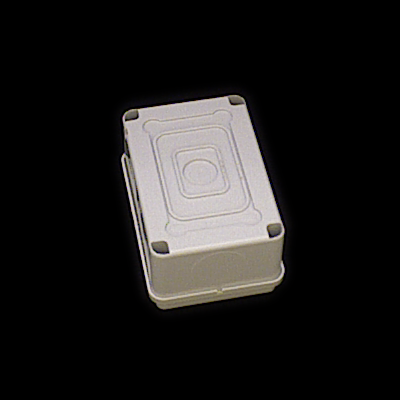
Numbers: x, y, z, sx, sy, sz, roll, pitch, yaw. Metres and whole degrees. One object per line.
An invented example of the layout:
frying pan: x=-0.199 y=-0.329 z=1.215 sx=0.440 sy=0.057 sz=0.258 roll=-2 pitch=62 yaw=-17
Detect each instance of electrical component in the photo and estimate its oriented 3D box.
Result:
electrical component: x=0.000 y=0.000 z=0.629 sx=0.078 sy=0.112 sz=0.057 roll=-9 pitch=-37 yaw=-7
